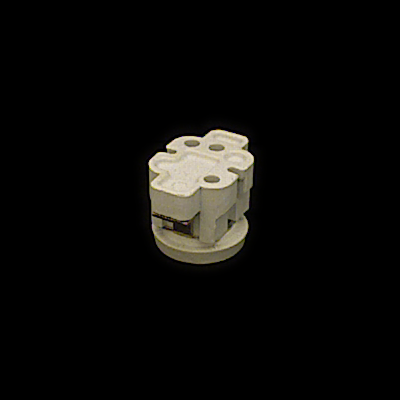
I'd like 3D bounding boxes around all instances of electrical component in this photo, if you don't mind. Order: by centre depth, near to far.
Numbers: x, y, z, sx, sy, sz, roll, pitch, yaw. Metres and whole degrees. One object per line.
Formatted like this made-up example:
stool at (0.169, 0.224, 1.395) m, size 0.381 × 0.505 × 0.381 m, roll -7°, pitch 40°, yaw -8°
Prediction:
electrical component at (0.000, 0.000, 0.640) m, size 0.057 × 0.057 × 0.078 m, roll 17°, pitch 37°, yaw 23°
